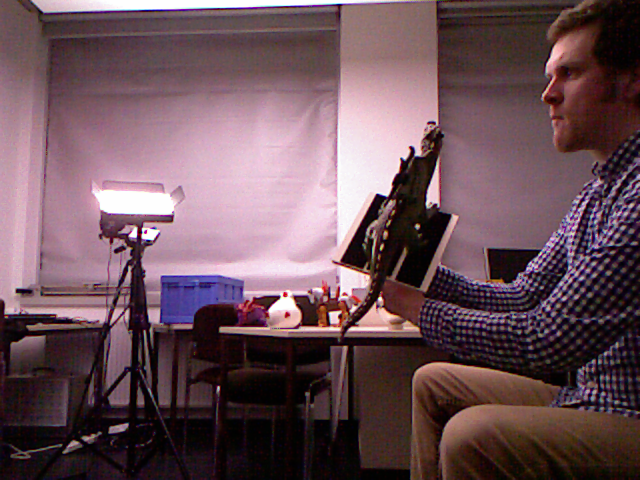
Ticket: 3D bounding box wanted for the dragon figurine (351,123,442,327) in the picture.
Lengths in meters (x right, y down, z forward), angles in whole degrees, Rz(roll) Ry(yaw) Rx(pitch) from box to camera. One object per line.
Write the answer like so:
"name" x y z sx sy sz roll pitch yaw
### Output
"dragon figurine" 0.145 -0.054 0.961 0.123 0.420 0.238 17 -30 18
